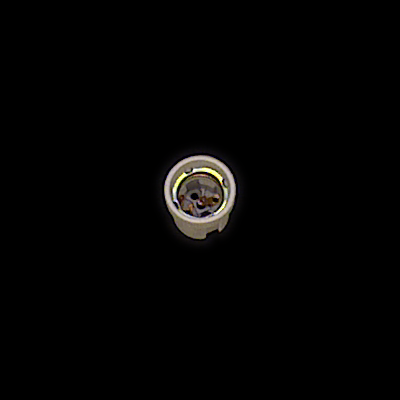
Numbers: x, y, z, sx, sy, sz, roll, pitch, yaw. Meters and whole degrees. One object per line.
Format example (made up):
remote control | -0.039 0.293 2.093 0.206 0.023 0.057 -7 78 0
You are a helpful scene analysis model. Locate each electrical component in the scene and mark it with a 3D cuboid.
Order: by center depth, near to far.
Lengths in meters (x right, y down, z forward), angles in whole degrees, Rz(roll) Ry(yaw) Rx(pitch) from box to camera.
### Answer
electrical component | 0.000 0.000 0.627 0.040 0.040 0.046 0 -17 0
